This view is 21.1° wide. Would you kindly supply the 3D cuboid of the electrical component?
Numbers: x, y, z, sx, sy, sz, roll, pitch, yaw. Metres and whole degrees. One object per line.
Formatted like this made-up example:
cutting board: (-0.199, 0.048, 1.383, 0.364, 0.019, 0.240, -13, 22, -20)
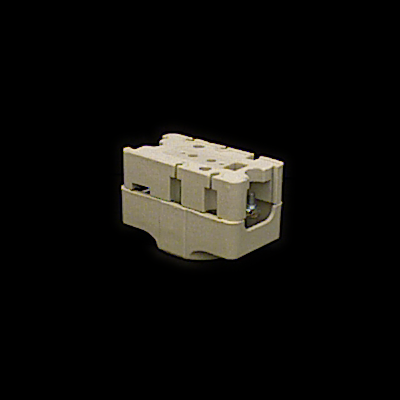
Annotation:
electrical component: (0.000, 0.000, 0.647, 0.088, 0.056, 0.050, 18, 27, 36)
